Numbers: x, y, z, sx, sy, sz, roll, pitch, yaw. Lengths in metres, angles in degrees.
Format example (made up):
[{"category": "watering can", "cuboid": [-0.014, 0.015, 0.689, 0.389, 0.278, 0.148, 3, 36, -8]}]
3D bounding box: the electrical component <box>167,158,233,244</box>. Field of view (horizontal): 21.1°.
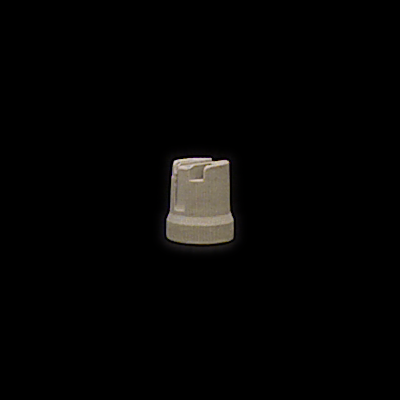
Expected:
[{"category": "electrical component", "cuboid": [0.000, 0.000, 0.646, 0.040, 0.046, 0.040, 1, 11, 0]}]
